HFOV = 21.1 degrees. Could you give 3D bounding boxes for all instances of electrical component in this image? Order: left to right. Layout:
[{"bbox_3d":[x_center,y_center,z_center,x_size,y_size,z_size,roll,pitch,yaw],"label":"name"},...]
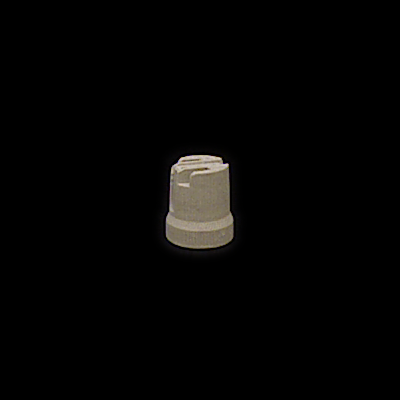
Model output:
[{"bbox_3d":[0.000,0.000,0.642,0.040,0.046,0.040,1,21,0],"label":"electrical component"}]
